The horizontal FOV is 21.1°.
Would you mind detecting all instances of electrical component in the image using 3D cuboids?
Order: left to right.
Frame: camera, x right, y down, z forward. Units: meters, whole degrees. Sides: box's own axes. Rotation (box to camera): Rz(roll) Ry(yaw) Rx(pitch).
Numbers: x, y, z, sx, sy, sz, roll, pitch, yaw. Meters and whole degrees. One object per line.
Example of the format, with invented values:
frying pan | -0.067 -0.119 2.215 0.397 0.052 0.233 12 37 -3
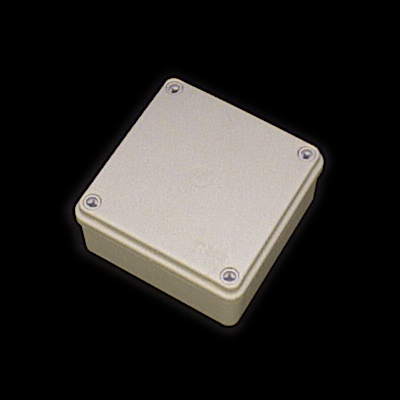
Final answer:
electrical component | 0.000 0.000 0.630 0.108 0.109 0.056 28 -25 14
